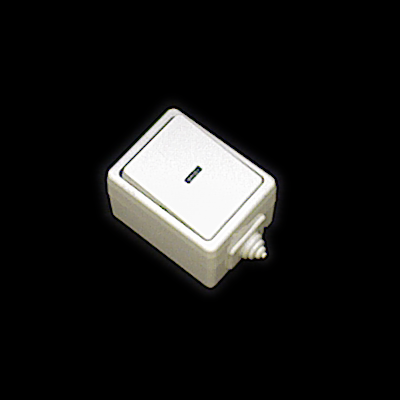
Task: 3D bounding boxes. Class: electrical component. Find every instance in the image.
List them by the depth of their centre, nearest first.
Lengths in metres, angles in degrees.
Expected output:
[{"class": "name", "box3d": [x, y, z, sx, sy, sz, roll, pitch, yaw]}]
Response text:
[{"class": "electrical component", "box3d": [0.000, 0.000, 0.625, 0.096, 0.062, 0.060, 36, -21, 17]}]
